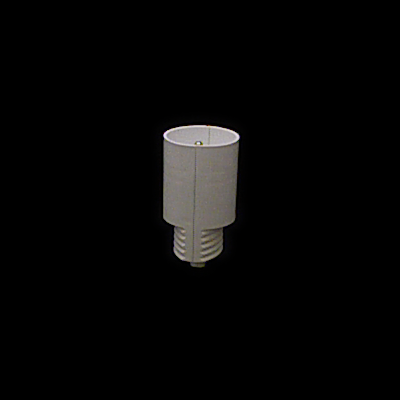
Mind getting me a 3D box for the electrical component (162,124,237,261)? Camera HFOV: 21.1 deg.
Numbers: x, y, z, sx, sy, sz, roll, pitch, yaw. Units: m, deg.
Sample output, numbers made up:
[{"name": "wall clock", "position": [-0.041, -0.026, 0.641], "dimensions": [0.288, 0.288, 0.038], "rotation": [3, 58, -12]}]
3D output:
[{"name": "electrical component", "position": [0.000, 0.000, 0.633], "dimensions": [0.043, 0.082, 0.042], "rotation": [0, 22, 0]}]
